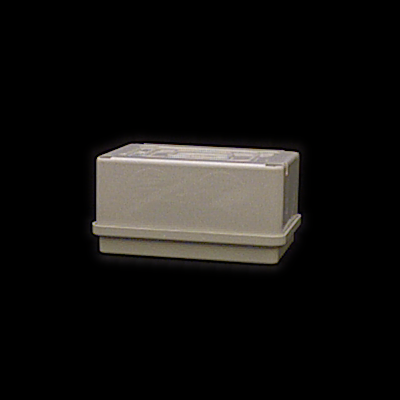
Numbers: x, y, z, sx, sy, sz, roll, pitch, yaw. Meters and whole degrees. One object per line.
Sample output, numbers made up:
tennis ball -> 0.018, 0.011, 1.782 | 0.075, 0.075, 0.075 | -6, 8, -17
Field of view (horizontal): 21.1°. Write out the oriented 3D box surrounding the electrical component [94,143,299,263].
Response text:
electrical component -> 0.000, 0.000, 0.644 | 0.113, 0.057, 0.077 | 3, 11, 12
